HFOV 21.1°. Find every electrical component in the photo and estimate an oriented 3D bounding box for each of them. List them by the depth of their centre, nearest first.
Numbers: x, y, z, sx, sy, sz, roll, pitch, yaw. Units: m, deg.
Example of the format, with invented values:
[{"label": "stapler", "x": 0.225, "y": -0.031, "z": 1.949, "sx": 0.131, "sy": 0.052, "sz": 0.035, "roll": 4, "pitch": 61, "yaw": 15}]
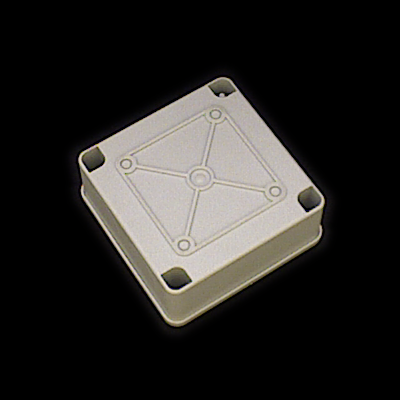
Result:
[{"label": "electrical component", "x": 0.000, "y": 0.000, "z": 0.629, "sx": 0.109, "sy": 0.108, "sz": 0.056, "roll": -30, "pitch": -23, "yaw": -15}]
